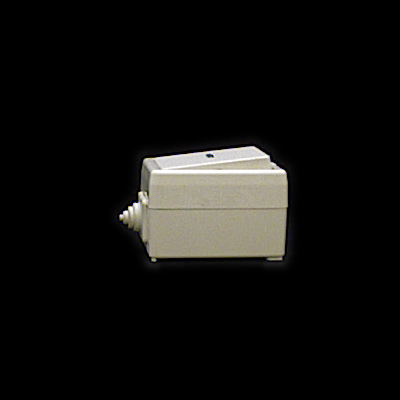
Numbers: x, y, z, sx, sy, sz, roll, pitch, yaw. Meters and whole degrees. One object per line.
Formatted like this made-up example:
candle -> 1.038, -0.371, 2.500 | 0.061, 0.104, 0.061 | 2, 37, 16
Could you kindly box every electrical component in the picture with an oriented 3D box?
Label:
electrical component -> 0.000, 0.000, 0.644 | 0.096, 0.061, 0.061 | 0, 11, -8
